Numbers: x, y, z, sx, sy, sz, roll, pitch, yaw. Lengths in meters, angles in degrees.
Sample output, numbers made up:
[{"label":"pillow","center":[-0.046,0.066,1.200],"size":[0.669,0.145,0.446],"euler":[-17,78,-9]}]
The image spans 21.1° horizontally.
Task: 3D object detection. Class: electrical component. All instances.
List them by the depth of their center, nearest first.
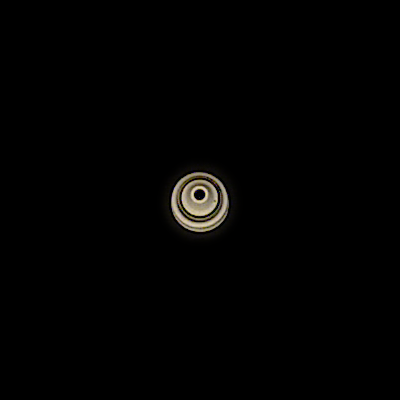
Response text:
[{"label":"electrical component","center":[0.000,0.000,0.638],"size":[0.035,0.035,0.061],"euler":[0,-6,0]}]
